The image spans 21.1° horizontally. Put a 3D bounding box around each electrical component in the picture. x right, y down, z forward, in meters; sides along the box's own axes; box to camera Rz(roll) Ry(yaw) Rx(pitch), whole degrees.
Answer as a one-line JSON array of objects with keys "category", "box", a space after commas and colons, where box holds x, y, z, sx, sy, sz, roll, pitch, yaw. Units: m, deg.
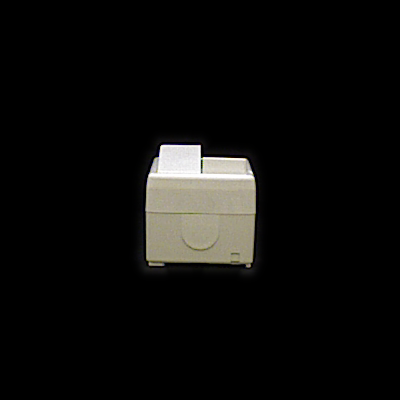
[{"category": "electrical component", "box": [0.000, 0.000, 0.647, 0.062, 0.061, 0.095, 1, 10, 0]}]
